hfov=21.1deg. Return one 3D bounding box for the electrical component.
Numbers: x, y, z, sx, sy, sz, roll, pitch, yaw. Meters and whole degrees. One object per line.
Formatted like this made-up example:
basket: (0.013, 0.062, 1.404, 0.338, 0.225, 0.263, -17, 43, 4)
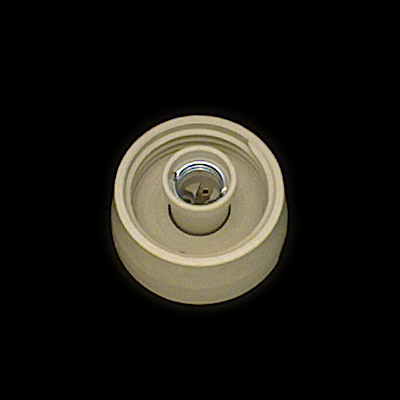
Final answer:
electrical component: (0.000, 0.000, 0.634, 0.108, 0.108, 0.060, 0, -27, 0)
